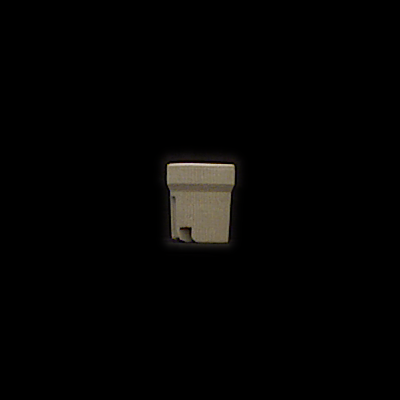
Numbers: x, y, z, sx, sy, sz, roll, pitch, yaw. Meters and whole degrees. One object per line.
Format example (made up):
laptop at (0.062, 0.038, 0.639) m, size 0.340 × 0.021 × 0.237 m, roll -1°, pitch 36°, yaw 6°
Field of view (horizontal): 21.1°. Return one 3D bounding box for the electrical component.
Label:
electrical component at (0.000, 0.000, 0.648) m, size 0.040 × 0.046 × 0.040 m, roll 1°, pitch 1°, yaw 1°
